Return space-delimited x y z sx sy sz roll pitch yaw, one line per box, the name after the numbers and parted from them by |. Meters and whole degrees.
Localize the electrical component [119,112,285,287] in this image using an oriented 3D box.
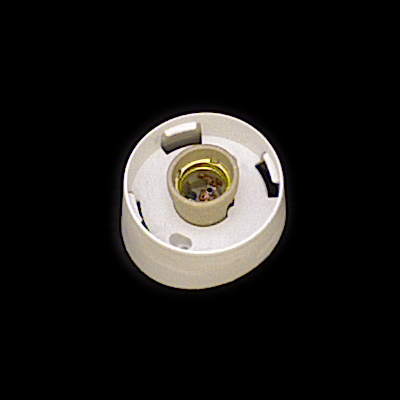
0.000 0.000 0.625 0.099 0.099 0.064 0 -27 0 | electrical component
